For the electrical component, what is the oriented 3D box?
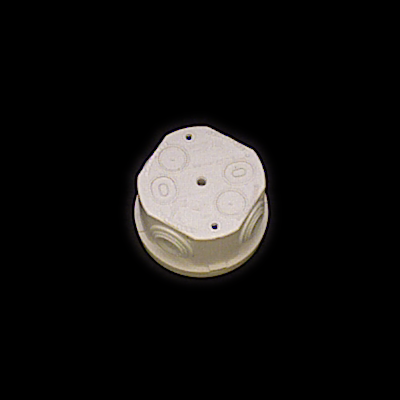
[{"bbox_3d":[0.000,0.000,0.631,0.080,0.080,0.050,0,-27,0],"label":"electrical component"}]
